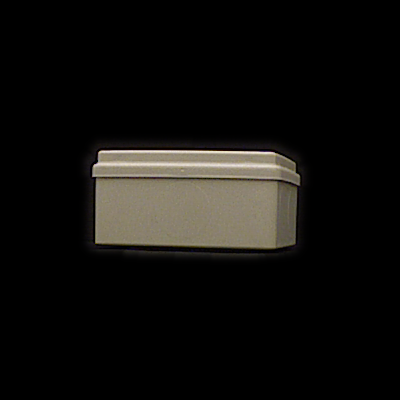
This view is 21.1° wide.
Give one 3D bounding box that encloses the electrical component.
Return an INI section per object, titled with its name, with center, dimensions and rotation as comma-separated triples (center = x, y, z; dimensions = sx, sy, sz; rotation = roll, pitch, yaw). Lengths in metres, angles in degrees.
[electrical component]
center = 0.000, 0.000, 0.651
dimensions = 0.108, 0.056, 0.109
rotation = 1, 0, 11
